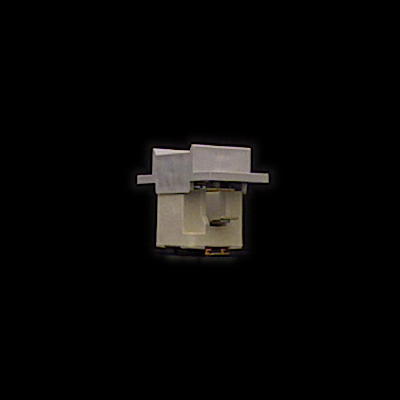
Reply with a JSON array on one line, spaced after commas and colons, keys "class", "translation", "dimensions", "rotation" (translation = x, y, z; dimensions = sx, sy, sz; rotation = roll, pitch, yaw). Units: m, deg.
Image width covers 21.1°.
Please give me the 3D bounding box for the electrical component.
[{"class": "electrical component", "translation": [0.000, 0.000, 0.648], "dimensions": [0.042, 0.063, 0.081], "rotation": [2, -1, -33]}]
